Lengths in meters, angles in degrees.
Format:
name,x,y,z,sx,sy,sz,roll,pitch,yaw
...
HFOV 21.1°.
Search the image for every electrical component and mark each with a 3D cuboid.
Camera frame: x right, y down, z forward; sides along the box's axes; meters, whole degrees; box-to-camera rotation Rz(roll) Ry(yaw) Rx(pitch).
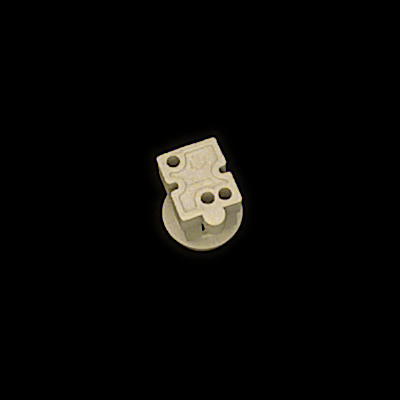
name,x,y,z,sx,sy,sz,roll,pitch,yaw
electrical component,0.000,0.000,0.637,0.048,0.066,0.055,-19,-26,-8
